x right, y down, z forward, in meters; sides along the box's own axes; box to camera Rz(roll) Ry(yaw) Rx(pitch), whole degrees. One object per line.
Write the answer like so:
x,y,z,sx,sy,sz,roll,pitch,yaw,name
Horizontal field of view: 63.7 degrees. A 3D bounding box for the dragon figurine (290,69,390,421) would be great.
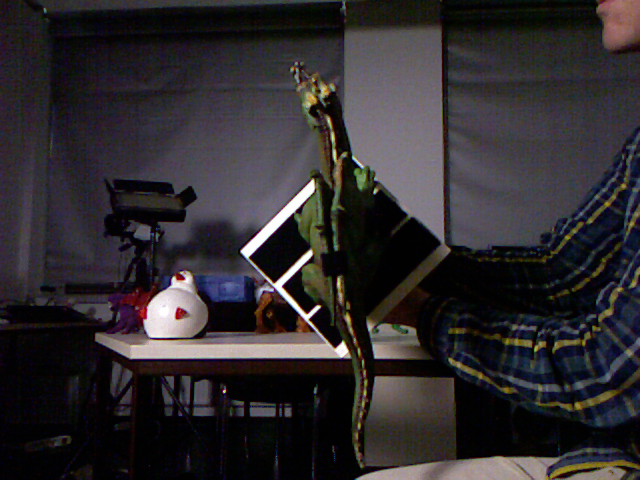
0.024,0.015,0.565,0.122,0.414,0.242,-11,-6,5,dragon figurine
